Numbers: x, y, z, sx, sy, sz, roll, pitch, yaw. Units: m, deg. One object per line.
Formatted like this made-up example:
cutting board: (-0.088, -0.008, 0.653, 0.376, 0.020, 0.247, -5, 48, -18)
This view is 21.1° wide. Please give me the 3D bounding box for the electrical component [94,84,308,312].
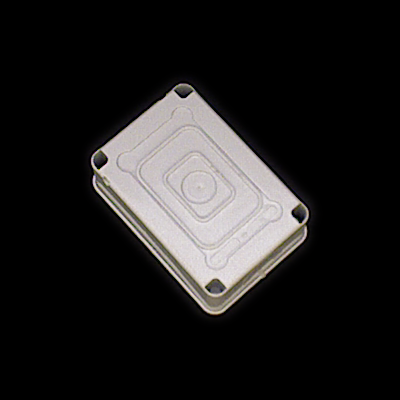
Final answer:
electrical component: (0.000, 0.000, 0.628, 0.078, 0.113, 0.057, -40, -12, -11)
